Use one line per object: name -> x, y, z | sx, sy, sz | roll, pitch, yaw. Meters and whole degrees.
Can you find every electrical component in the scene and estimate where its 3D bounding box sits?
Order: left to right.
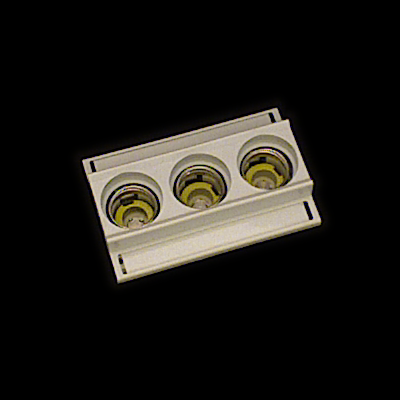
electrical component -> 0.000, 0.000, 0.637 | 0.121, 0.078, 0.063 | -15, -24, -8
